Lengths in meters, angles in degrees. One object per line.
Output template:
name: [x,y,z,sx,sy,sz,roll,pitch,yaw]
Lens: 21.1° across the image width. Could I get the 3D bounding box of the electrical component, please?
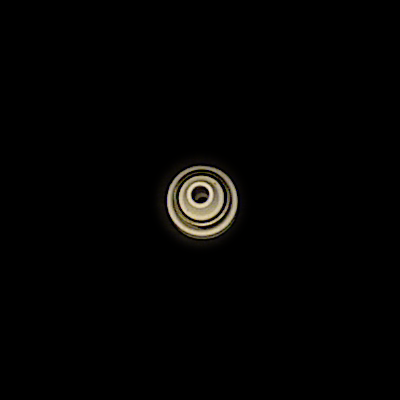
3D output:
electrical component: [0.000,0.000,0.635,0.043,0.043,0.062,0,-6,1]
